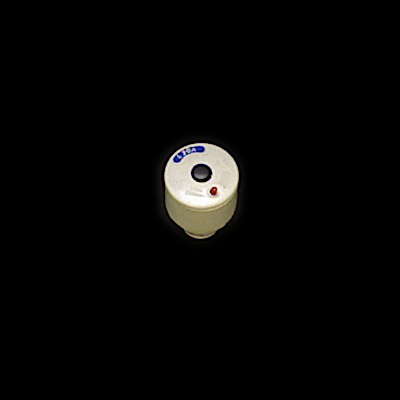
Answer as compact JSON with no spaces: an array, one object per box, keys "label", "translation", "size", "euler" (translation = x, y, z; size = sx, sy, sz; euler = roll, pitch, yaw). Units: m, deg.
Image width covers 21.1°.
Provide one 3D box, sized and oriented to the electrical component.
[{"label":"electrical component","translation":[0.000,0.000,0.616],"size":[0.040,0.040,0.078],"euler":[0,-27,0]}]
